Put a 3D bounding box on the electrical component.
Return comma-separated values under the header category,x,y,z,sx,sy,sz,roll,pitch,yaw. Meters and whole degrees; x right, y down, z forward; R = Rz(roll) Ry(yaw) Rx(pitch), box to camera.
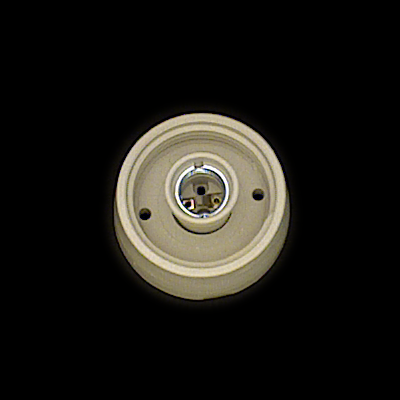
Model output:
category,x,y,z,sx,sy,sz,roll,pitch,yaw
electrical component,0.000,0.000,0.633,0.108,0.108,0.060,0,-16,0
